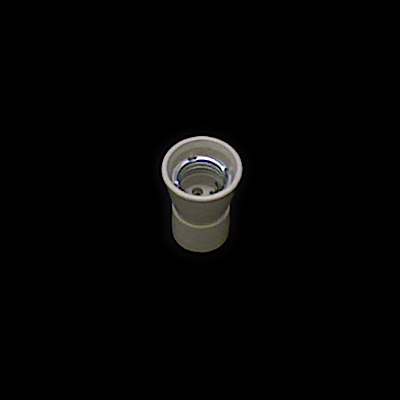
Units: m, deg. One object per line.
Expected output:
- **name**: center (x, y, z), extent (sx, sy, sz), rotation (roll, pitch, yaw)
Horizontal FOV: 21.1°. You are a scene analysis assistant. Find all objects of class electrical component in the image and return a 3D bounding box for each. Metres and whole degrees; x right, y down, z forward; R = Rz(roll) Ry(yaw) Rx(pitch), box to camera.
- **electrical component**: center (0.000, 0.000, 0.625), extent (0.044, 0.044, 0.065), rotation (0, -37, -1)
